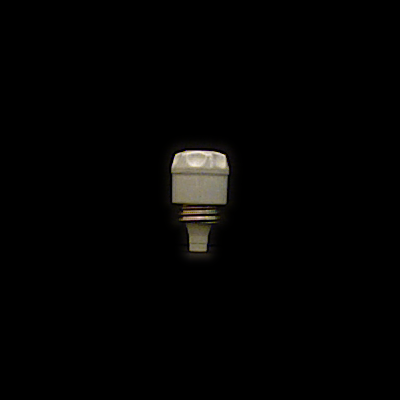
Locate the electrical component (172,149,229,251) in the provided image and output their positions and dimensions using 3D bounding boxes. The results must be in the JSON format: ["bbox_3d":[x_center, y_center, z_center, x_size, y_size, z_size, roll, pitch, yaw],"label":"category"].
[{"bbox_3d":[0.000,0.000,0.655,0.035,0.061,0.035,1,2,0],"label":"electrical component"}]
